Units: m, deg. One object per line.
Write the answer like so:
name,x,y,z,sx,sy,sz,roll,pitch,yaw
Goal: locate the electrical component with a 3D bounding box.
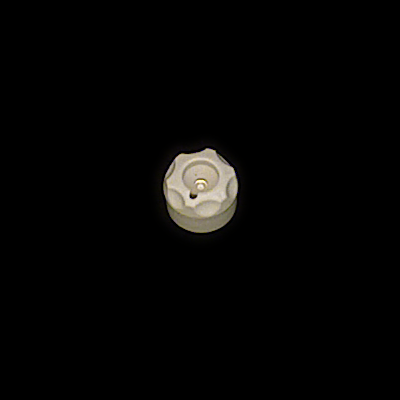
electrical component,0.000,0.000,0.634,0.043,0.043,0.062,0,-27,1
